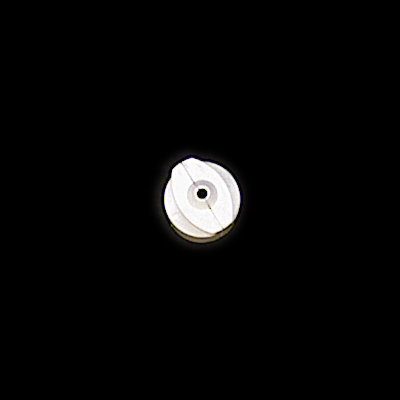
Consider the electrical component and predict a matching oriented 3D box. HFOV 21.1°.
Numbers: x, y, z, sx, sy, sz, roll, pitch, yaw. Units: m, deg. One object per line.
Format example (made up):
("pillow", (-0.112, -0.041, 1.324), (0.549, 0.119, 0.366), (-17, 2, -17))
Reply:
("electrical component", (0.000, 0.000, 0.616), (0.043, 0.043, 0.080), (0, -6, 1))
